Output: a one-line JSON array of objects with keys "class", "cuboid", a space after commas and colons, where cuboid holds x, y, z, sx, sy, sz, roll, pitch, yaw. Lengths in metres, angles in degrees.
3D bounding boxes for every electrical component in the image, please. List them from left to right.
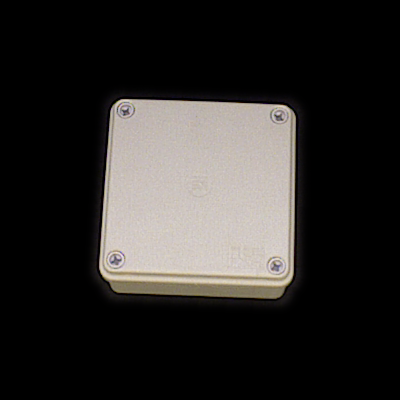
[{"class": "electrical component", "cuboid": [0.000, 0.000, 0.630, 0.109, 0.109, 0.056, 2, -17, 0]}]
